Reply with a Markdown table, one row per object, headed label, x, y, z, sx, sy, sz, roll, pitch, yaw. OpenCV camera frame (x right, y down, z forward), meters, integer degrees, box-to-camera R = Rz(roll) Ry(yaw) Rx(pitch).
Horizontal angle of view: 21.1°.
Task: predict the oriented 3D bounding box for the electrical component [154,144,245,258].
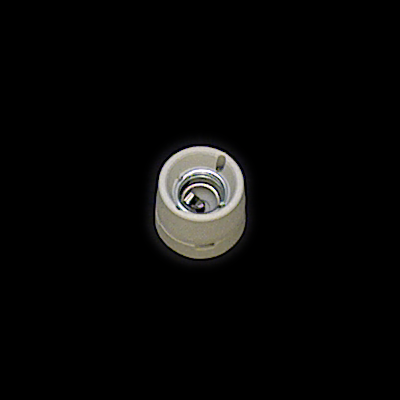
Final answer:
| label | x | y | z | sx | sy | sz | roll | pitch | yaw |
| --- | --- | --- | --- | --- | --- | --- | --- | --- | --- |
| electrical component | 0.000 | 0.000 | 0.633 | 0.055 | 0.055 | 0.047 | 0 | -28 | -1 |
